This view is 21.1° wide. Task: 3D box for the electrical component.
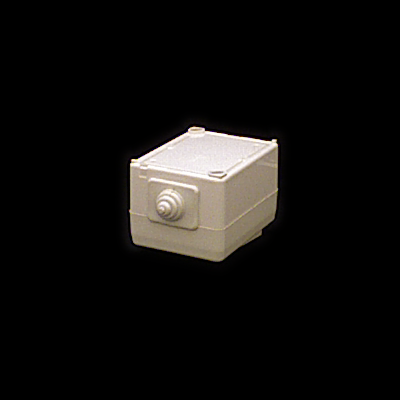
[{"bbox_3d":[0.000,0.000,0.639,0.061,0.061,0.096,11,24,25],"label":"electrical component"}]
